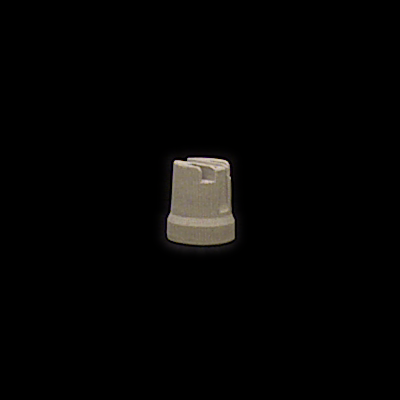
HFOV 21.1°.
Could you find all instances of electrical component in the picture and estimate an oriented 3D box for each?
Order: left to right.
[{"bbox_3d":[0.000,0.000,0.644,0.040,0.046,0.040,1,11,0],"label":"electrical component"}]
